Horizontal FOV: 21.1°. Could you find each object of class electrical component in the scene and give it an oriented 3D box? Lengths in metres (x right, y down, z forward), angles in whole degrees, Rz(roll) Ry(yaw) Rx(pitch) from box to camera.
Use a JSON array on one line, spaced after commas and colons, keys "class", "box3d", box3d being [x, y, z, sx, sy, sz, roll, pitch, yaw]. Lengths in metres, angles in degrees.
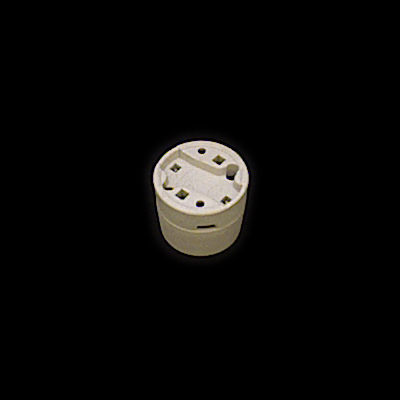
[{"class": "electrical component", "box3d": [0.000, 0.000, 0.635, 0.055, 0.055, 0.047, 0, -38, -1]}]
